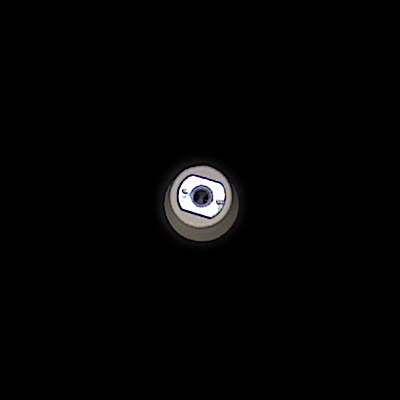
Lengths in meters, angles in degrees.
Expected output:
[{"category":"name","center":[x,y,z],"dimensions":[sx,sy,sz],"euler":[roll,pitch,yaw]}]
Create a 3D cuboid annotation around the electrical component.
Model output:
[{"category":"electrical component","center":[0.000,0.000,0.626],"dimensions":[0.044,0.044,0.065],"euler":[0,-5,1]}]
